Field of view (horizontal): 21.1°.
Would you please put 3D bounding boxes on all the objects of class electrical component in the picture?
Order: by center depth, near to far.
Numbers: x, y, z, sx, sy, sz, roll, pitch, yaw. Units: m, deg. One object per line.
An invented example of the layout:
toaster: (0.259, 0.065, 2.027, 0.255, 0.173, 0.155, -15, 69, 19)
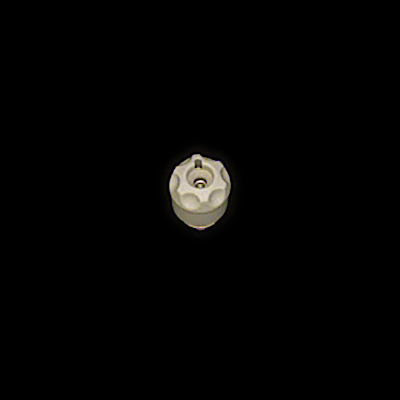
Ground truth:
electrical component: (0.000, 0.000, 0.635, 0.035, 0.035, 0.061, 0, -27, 0)
